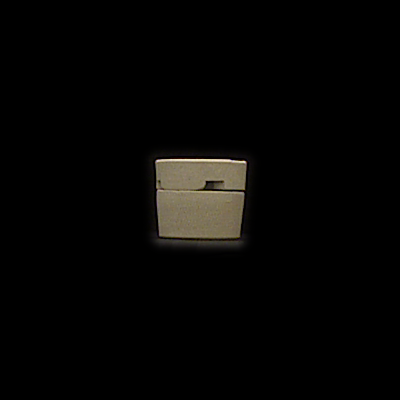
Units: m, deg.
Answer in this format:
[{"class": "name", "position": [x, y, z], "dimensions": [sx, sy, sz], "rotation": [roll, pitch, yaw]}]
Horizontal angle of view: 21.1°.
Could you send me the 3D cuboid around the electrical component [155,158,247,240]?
[{"class": "electrical component", "position": [0.000, 0.000, 0.650], "dimensions": [0.055, 0.047, 0.055], "rotation": [2, 1, 0]}]
